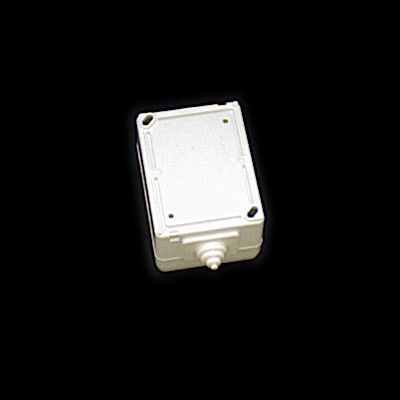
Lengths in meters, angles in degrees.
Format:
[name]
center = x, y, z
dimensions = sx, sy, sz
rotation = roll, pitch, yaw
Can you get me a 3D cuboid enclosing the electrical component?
[electrical component]
center = -0.001, 0.000, 0.623
dimensions = 0.062, 0.097, 0.060
rotation = -8, -27, -5
